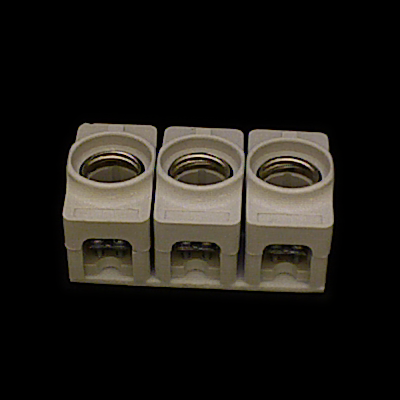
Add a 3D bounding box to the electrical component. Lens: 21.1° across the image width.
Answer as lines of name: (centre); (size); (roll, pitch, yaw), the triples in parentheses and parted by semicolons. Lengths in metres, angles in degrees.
electrical component: (0.000, 0.000, 0.638); (0.150, 0.063, 0.087); (2, 41, 1)
